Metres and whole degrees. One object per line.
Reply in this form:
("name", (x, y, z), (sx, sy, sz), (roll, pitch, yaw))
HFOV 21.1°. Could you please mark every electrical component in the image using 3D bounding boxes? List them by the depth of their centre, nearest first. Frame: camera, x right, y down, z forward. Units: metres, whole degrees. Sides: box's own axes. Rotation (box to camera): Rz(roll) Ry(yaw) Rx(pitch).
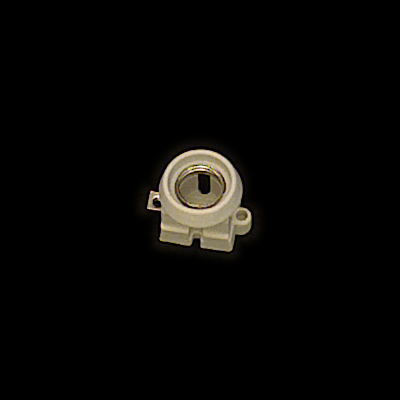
("electrical component", (0.000, 0.000, 0.637), (0.066, 0.048, 0.055), (7, -28, 4))
